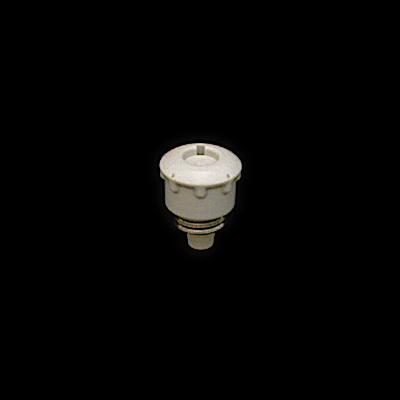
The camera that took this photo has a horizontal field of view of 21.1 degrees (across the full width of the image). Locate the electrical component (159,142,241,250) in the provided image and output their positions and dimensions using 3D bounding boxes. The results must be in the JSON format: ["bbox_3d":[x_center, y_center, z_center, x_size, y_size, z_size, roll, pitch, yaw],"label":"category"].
[{"bbox_3d":[0.000,0.000,0.641,0.048,0.063,0.047,1,32,0],"label":"electrical component"}]
